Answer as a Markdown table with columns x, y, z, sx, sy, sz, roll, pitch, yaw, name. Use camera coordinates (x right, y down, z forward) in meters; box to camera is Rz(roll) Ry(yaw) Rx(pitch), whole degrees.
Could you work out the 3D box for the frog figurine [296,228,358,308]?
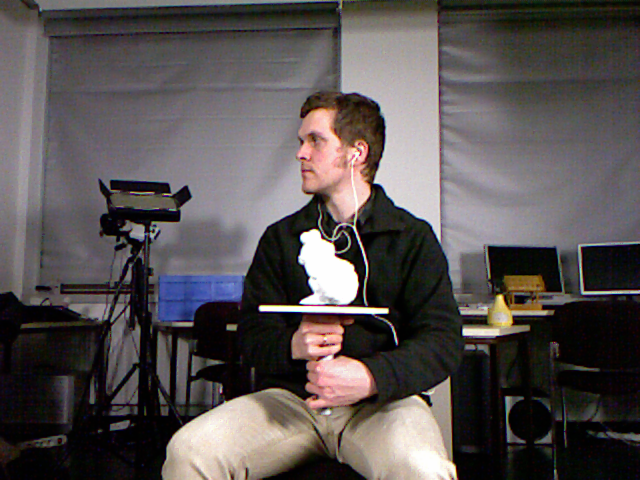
| x | y | z | sx | sy | sz | roll | pitch | yaw | name |
| --- | --- | --- | --- | --- | --- | --- | --- | --- | --- |
| 0.014 | 0.056 | 1.022 | 0.122 | 0.160 | 0.137 | -3 | -3 | 44 | frog figurine |
